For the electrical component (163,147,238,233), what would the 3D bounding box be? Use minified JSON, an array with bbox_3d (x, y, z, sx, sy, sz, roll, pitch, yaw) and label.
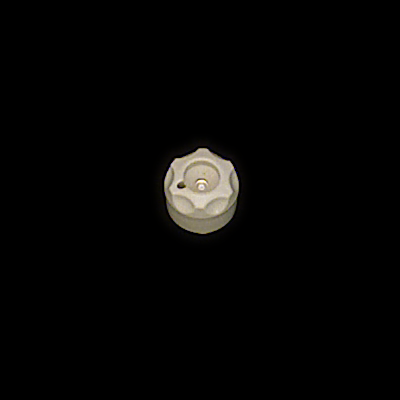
[{"bbox_3d":[0.000,0.000,0.634,0.043,0.043,0.062,0,-27,0],"label":"electrical component"}]
